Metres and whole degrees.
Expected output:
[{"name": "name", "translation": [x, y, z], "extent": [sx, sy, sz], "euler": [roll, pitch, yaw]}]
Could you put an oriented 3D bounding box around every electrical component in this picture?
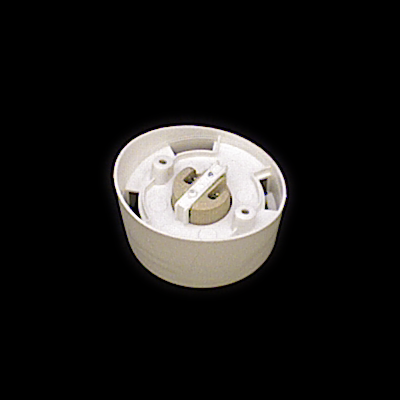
[{"name": "electrical component", "translation": [0.000, 0.000, 0.625], "extent": [0.099, 0.098, 0.064], "euler": [0, -37, 0]}]
